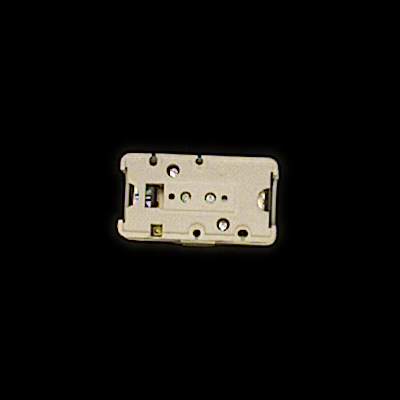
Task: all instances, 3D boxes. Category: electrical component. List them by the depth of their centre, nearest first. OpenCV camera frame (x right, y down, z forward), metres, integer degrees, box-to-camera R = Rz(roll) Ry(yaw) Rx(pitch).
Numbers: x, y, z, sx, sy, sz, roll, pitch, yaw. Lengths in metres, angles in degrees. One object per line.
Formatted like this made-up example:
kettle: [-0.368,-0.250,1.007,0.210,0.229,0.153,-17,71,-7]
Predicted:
electrical component: [0.000,0.000,0.637,0.089,0.050,0.055,2,-5,1]
